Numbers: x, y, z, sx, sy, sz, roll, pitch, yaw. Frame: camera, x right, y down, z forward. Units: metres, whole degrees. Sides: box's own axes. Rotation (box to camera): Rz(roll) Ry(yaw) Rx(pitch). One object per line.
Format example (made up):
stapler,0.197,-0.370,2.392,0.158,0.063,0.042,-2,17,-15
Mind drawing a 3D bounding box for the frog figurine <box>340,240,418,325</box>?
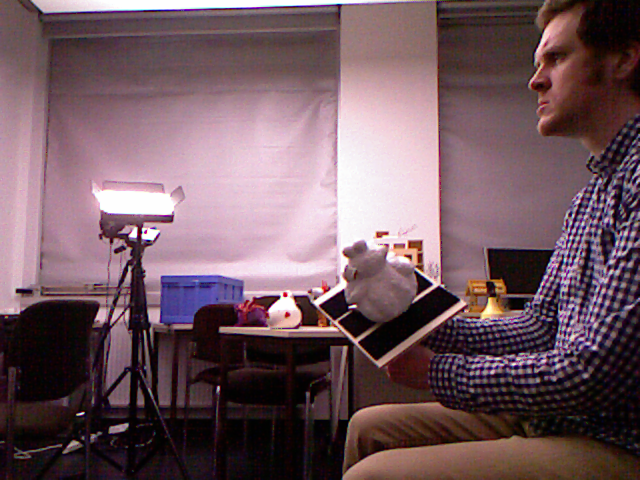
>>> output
frog figurine,0.103,0.066,0.900,0.138,0.156,0.126,-19,46,-6
